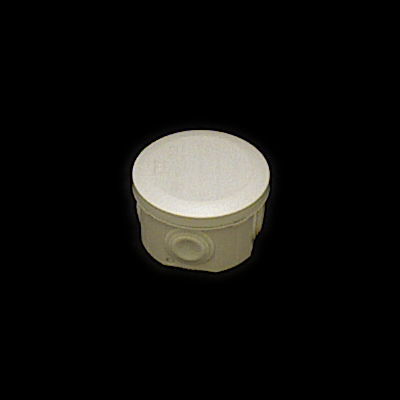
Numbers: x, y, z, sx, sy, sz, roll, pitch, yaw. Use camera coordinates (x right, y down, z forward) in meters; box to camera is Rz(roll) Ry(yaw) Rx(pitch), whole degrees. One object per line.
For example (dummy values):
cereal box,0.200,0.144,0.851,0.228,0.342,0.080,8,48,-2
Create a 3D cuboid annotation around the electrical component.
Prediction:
electrical component,0.000,0.000,0.635,0.080,0.051,0.079,1,41,0
